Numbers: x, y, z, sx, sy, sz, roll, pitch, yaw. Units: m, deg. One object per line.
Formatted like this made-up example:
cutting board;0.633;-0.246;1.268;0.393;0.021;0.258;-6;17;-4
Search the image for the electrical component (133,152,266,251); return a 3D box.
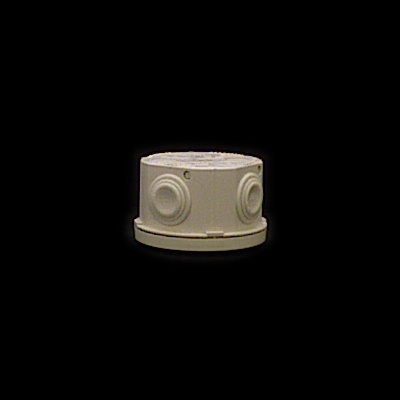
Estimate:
electrical component;0.000;0.000;0.646;0.080;0.051;0.079;1;10;0
